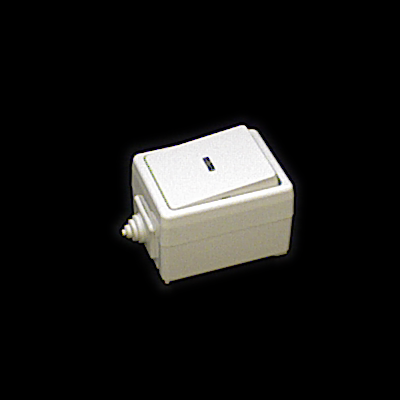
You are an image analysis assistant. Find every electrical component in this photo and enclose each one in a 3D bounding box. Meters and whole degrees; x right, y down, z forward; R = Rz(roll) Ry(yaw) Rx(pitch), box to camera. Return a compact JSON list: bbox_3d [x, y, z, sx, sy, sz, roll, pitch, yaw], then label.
[{"bbox_3d":[0.000,0.000,0.630,0.096,0.061,0.061,-13,44,-15],"label":"electrical component"}]
